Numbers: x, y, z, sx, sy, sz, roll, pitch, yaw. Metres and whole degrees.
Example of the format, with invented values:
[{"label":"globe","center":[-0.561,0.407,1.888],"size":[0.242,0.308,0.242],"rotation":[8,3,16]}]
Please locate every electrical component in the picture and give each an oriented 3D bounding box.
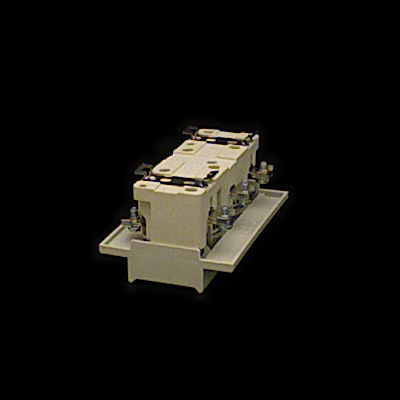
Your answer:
[{"label":"electrical component","center":[0.000,0.000,0.645],"size":[0.078,0.064,0.120],"rotation":[7,22,17]}]
